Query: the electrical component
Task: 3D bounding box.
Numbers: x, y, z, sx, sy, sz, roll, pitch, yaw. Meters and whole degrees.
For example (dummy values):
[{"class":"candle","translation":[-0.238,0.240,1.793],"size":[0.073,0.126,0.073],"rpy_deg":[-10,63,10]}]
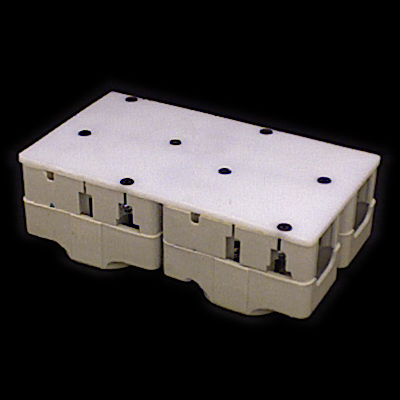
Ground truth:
[{"class":"electrical component","translation":[0.000,0.000,0.634],"size":[0.185,0.061,0.104],"rpy_deg":[16,34,23]}]
